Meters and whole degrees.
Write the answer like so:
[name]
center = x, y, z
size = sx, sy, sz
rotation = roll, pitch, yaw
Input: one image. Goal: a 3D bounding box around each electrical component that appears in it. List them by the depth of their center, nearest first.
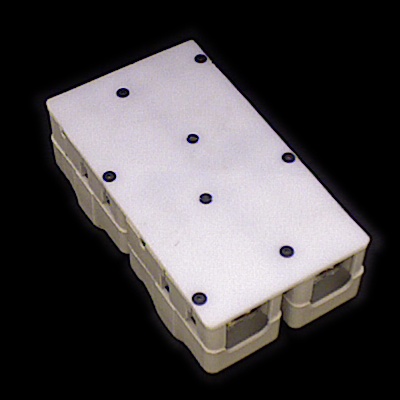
[electrical component]
center = 0.000, 0.000, 0.627
size = 0.105, 0.185, 0.060
rotation = -26, -33, -19
